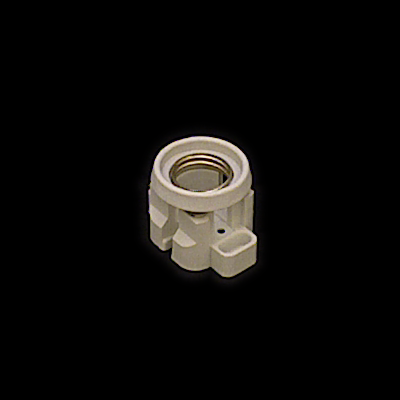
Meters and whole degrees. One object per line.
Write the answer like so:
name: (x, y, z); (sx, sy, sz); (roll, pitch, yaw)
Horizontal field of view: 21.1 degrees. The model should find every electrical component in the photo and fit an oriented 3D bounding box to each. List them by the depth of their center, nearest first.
electrical component: (0.000, 0.000, 0.632); (0.058, 0.057, 0.077); (-29, 50, -28)
